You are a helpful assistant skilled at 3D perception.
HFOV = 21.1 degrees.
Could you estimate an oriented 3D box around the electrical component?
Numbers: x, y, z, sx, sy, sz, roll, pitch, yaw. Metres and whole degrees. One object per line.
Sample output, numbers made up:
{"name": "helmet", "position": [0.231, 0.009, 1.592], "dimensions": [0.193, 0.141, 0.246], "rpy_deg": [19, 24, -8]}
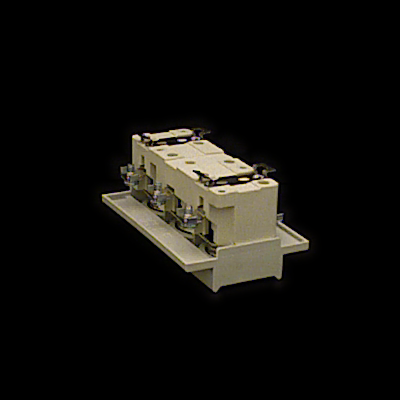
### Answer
{"name": "electrical component", "position": [0.000, 0.000, 0.648], "dimensions": [0.079, 0.064, 0.119], "rpy_deg": [-9, 24, -26]}
